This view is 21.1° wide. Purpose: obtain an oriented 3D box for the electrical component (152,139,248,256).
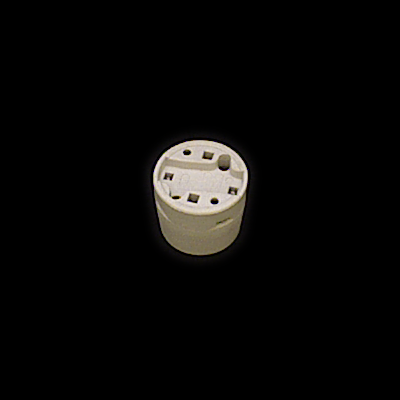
[{"bbox_3d":[0.000,0.000,0.635,0.055,0.055,0.047,0,-38,0],"label":"electrical component"}]
